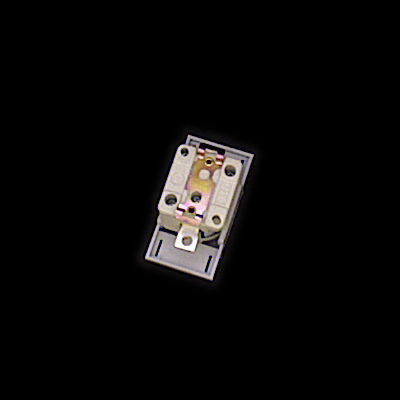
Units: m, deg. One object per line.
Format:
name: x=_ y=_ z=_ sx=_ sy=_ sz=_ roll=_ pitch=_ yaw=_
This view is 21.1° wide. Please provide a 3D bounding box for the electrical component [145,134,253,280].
electrical component: x=0.000 y=0.000 z=0.625 sx=0.042 sy=0.081 sz=0.063 roll=17 pitch=-16 yaw=5
